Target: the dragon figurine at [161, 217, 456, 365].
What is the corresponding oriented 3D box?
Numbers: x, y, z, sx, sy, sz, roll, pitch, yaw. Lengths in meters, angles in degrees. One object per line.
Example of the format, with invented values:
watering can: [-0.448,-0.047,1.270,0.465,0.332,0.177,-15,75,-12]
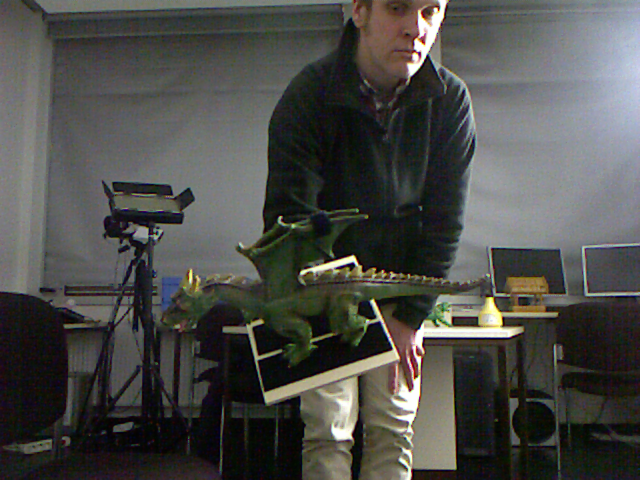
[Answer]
dragon figurine: [-0.004,0.055,0.694,0.412,0.125,0.238,-16,-34,-5]
